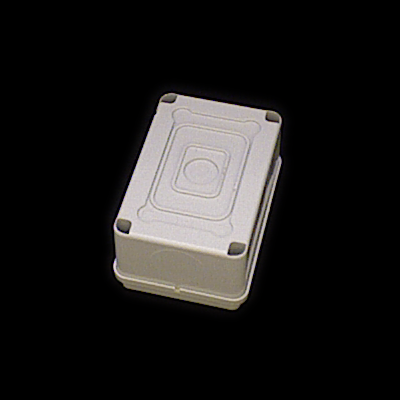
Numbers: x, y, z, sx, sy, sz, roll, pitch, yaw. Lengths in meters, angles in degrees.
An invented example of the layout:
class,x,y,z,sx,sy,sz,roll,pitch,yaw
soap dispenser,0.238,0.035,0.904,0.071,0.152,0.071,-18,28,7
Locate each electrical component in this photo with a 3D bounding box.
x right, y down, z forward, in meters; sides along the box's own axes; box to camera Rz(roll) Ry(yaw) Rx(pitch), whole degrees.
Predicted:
class,x,y,z,sx,sy,sz,roll,pitch,yaw
electrical component,0.000,0.000,0.629,0.078,0.113,0.057,11,-36,8
